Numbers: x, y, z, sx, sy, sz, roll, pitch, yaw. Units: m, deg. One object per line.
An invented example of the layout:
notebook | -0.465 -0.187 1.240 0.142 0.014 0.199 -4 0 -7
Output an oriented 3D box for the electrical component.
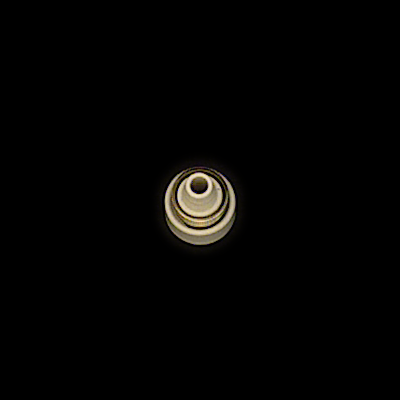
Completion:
electrical component | 0.000 0.000 0.634 0.043 0.043 0.061 0 -17 0
